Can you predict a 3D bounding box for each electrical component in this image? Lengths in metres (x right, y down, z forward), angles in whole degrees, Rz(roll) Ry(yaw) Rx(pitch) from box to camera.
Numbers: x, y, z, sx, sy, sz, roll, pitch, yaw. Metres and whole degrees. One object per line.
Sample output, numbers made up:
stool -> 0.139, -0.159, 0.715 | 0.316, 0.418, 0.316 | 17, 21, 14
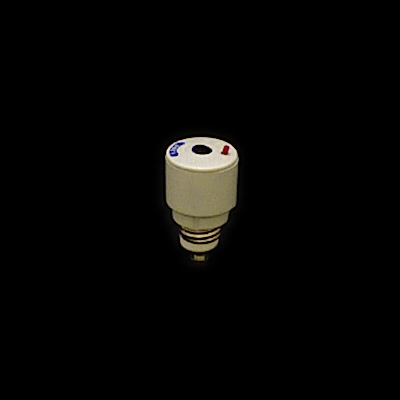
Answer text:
electrical component -> 0.000, 0.000, 0.628 | 0.040, 0.079, 0.039 | 1, 31, -1
